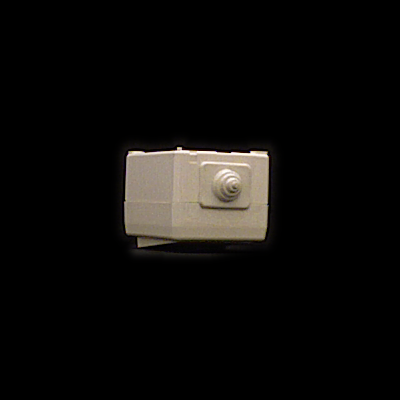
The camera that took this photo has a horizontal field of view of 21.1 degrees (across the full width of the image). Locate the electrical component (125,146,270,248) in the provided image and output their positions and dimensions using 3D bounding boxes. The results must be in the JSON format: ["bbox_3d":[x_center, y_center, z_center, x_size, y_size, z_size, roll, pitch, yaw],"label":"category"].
[{"bbox_3d":[0.000,0.000,0.647,0.062,0.061,0.096,1,1,-26],"label":"electrical component"}]
